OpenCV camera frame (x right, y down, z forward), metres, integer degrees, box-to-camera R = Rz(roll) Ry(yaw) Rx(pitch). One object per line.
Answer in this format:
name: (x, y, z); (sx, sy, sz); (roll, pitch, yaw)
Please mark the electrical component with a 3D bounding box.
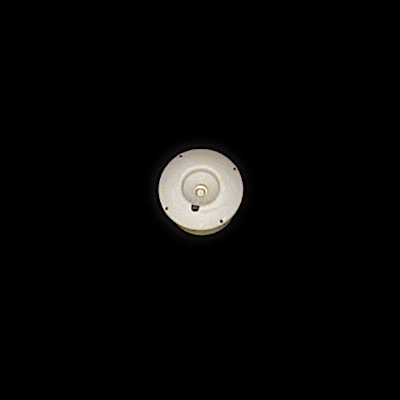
electrical component: (0.000, 0.000, 0.633); (0.048, 0.048, 0.061); (0, -16, 1)
